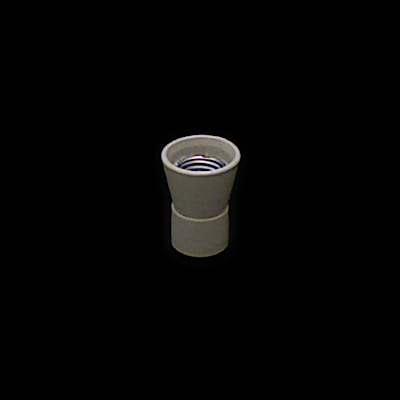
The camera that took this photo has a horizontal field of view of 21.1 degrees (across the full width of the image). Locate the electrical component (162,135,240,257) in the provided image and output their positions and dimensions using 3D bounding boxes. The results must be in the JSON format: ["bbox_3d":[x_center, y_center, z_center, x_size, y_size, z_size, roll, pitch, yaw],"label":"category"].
[{"bbox_3d":[0.000,0.000,0.631,0.044,0.066,0.044,1,32,0],"label":"electrical component"}]
